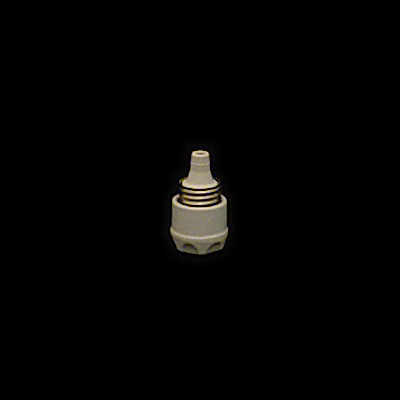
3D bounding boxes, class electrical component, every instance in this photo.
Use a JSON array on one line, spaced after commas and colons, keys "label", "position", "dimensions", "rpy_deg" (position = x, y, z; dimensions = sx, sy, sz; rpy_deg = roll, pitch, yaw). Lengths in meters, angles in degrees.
[{"label": "electrical component", "position": [0.000, 0.000, 0.650], "dimensions": [0.035, 0.062, 0.035], "rpy_deg": [1, 21, 0]}]
